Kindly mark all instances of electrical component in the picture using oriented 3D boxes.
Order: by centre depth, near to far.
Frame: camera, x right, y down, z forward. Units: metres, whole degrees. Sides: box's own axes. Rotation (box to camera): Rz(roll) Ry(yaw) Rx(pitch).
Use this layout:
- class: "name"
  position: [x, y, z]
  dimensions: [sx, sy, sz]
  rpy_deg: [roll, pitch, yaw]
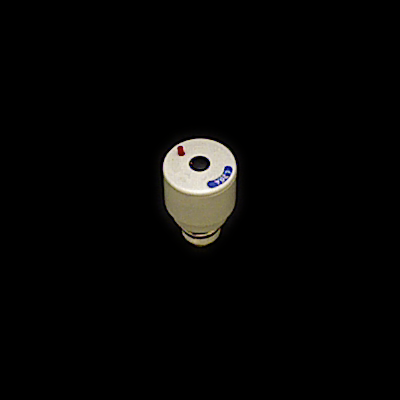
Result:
- class: "electrical component"
  position: [0.000, 0.000, 0.622]
  dimensions: [0.040, 0.040, 0.079]
  rpy_deg: [0, -38, 0]
